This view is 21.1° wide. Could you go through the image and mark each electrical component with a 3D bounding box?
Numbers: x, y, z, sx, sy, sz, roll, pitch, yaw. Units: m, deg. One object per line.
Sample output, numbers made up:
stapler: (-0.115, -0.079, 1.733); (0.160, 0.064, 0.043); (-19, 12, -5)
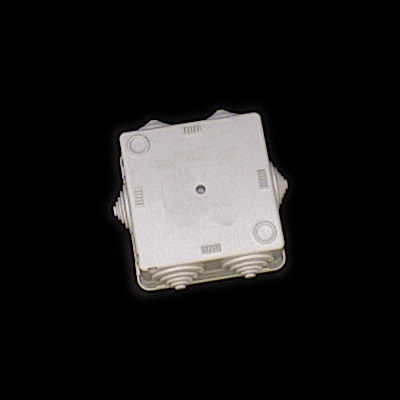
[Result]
electrical component: (0.000, 0.000, 0.631); (0.100, 0.100, 0.048); (-9, -16, -3)
